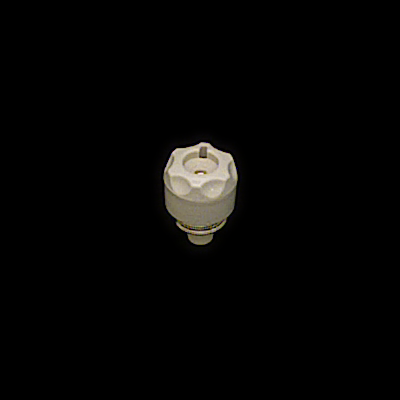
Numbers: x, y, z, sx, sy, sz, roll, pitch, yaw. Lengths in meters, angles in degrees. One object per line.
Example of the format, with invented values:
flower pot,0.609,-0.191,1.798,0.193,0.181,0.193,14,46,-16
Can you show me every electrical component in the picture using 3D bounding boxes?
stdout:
electrical component,0.000,0.000,0.637,0.043,0.062,0.043,1,43,0
